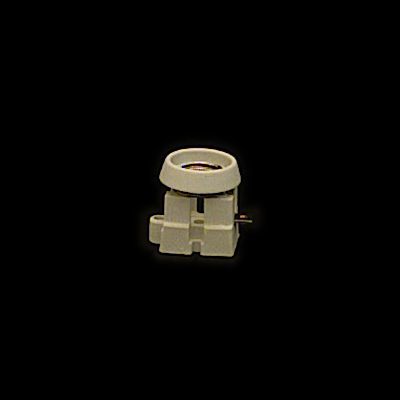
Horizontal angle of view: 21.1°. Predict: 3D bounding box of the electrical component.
[{"bbox_3d":[0.000,0.000,0.648,0.066,0.056,0.048,3,24,5],"label":"electrical component"}]
